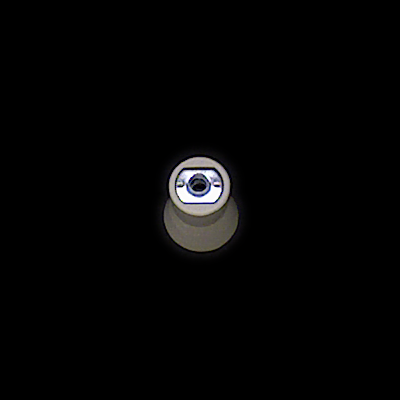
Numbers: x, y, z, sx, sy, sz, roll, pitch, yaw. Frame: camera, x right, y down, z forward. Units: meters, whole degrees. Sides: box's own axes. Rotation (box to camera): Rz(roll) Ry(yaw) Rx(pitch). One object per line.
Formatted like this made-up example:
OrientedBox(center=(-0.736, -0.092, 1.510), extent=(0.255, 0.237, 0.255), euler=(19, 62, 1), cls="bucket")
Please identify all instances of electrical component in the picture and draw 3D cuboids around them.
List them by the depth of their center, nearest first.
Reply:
OrientedBox(center=(0.000, 0.000, 0.625), extent=(0.044, 0.044, 0.065), euler=(0, -18, 0), cls="electrical component")
